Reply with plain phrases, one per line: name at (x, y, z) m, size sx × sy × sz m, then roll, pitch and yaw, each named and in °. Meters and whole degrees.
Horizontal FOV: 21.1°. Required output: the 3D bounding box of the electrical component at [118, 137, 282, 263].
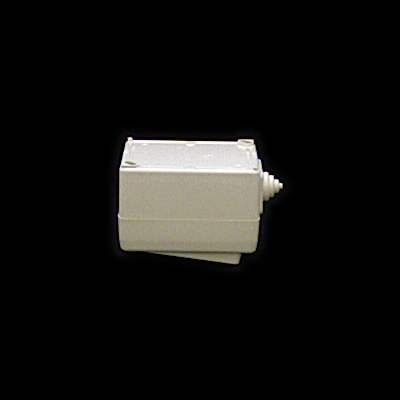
electrical component at (0.000, 0.000, 0.641) m, size 0.096 × 0.061 × 0.061 m, roll 1°, pitch 20°, yaw 0°
